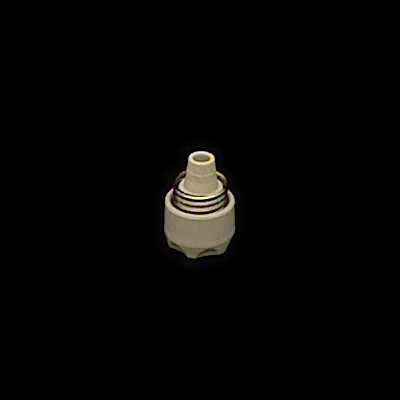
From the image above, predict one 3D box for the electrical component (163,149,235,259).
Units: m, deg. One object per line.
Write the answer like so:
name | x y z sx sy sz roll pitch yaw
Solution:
electrical component | 0.000 0.000 0.640 0.043 0.063 0.043 1 34 0
